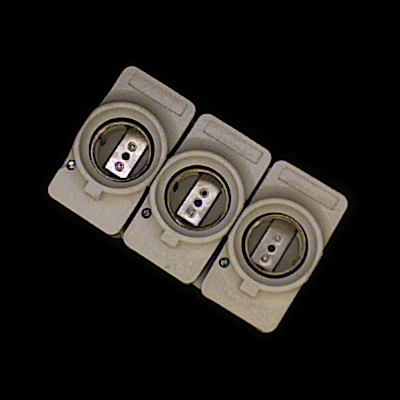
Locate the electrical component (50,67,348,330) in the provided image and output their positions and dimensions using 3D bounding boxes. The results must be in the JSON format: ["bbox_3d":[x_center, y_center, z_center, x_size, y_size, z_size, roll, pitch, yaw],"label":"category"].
[{"bbox_3d":[0.000,0.000,0.632,0.150,0.089,0.061,32,-4,4],"label":"electrical component"}]
